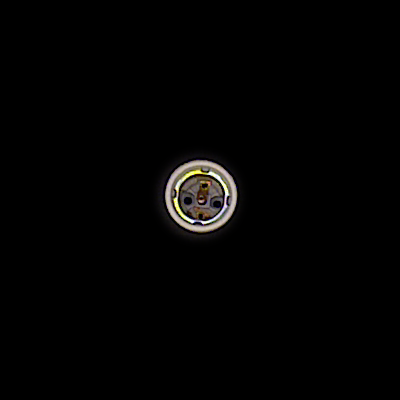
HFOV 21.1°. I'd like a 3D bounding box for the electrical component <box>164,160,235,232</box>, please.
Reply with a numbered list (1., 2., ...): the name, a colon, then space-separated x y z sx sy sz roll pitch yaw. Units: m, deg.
1. electrical component: 0.000 0.000 0.627 0.040 0.040 0.046 0 -6 0
